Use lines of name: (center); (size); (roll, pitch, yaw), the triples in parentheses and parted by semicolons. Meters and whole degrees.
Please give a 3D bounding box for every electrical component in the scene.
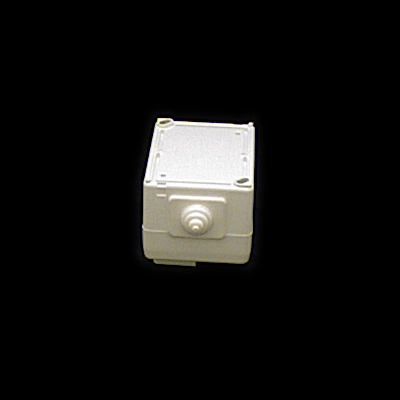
electrical component: (0.000, 0.000, 0.627); (0.062, 0.061, 0.095); (3, 31, 2)
